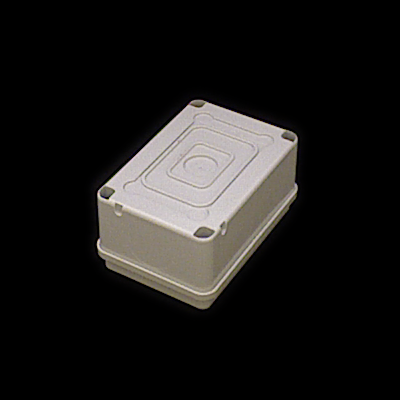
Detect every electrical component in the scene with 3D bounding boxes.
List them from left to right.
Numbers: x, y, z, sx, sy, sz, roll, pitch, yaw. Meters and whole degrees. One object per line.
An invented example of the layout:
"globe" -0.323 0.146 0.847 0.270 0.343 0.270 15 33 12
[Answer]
"electrical component" 0.000 0.000 0.632 0.078 0.057 0.112 22 45 22
